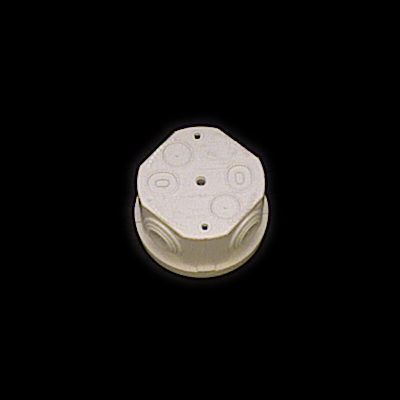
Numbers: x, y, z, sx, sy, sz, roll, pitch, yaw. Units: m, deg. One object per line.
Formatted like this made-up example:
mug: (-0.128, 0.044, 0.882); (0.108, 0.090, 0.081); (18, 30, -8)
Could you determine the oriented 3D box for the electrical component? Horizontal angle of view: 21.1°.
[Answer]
electrical component: (0.000, 0.000, 0.632); (0.080, 0.080, 0.050); (0, -28, 0)
